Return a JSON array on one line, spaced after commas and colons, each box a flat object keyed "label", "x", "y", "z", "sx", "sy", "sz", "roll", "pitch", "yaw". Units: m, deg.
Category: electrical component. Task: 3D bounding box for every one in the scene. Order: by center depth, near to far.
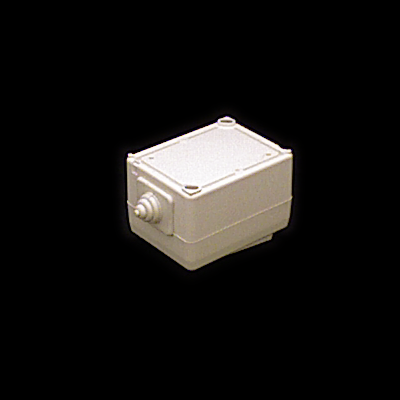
[{"label": "electrical component", "x": 0.000, "y": 0.000, "z": 0.636, "sx": 0.096, "sy": 0.061, "sz": 0.061, "roll": -24, "pitch": 39, "yaw": -33}]
